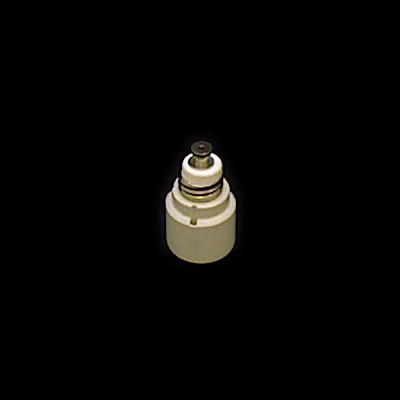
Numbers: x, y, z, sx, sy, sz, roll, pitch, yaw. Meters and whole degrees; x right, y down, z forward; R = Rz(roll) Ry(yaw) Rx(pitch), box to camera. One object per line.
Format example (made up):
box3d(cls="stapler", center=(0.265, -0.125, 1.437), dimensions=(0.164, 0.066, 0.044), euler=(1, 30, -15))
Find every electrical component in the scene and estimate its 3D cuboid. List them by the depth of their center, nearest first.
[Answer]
box3d(cls="electrical component", center=(0.000, 0.000, 0.626), dimensions=(0.040, 0.079, 0.039), euler=(1, 43, 0))
